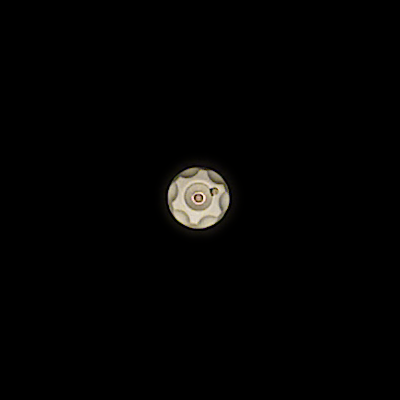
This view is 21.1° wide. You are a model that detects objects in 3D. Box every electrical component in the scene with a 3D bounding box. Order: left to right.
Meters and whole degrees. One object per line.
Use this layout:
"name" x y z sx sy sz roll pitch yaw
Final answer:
"electrical component" 0.000 0.000 0.634 0.035 0.035 0.061 0 -5 0
